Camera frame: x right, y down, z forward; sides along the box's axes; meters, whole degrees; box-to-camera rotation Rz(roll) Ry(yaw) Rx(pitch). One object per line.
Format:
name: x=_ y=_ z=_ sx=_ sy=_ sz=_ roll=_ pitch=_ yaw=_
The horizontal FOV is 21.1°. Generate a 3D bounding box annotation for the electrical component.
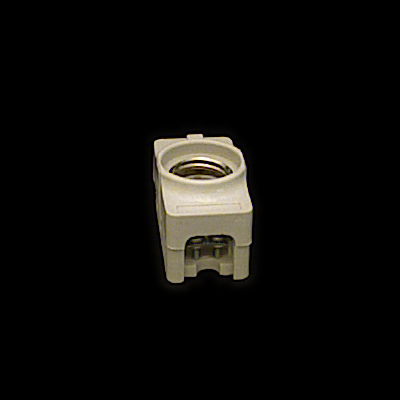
electrical component: x=0.000 y=0.000 z=0.643 sx=0.050 sy=0.056 sz=0.088 roll=-3 pitch=33 yaw=-7
